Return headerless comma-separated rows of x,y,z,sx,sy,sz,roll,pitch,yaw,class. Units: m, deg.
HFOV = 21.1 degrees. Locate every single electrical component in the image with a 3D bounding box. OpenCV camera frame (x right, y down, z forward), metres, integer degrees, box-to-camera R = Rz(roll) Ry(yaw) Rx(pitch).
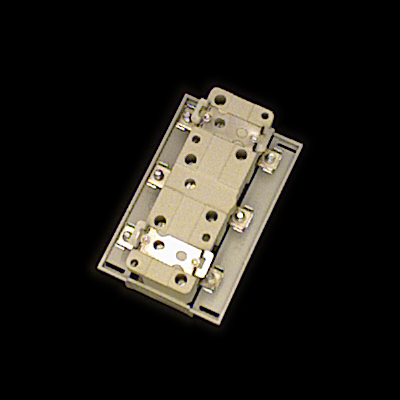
0.000,0.000,0.633,0.078,0.122,0.062,24,-14,6,electrical component
